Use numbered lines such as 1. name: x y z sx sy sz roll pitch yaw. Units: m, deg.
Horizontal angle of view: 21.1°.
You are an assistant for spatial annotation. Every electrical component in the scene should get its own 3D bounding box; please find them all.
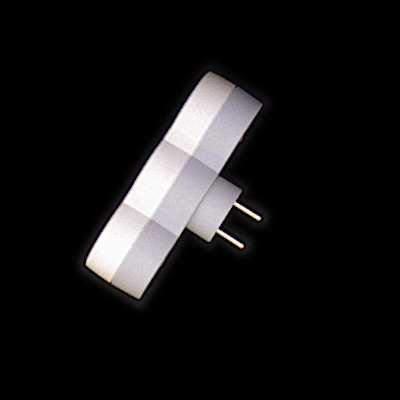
1. electrical component: 0.000 0.000 0.632 0.074 0.138 0.052 32 -7 1
